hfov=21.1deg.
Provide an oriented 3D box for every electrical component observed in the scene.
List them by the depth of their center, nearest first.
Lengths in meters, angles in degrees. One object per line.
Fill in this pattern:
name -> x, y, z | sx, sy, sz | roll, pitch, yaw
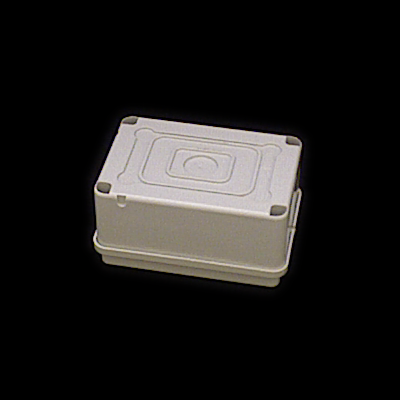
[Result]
electrical component -> 0.000, 0.000, 0.632 | 0.113, 0.057, 0.077 | 8, 42, 7
